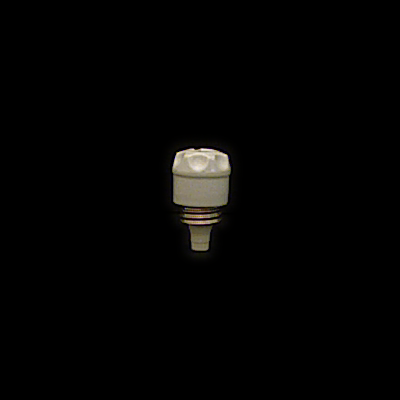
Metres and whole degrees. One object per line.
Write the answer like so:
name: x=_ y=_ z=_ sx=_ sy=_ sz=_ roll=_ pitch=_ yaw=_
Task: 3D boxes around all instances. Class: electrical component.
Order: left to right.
electrical component: x=0.000 y=0.000 z=0.654 sx=0.035 sy=0.062 sz=0.035 roll=1 pitch=12 yaw=0
